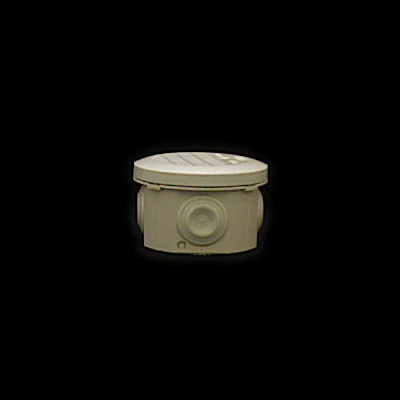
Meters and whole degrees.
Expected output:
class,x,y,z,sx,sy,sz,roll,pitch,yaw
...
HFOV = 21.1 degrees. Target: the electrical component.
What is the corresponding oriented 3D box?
class,x,y,z,sx,sy,sz,roll,pitch,yaw
electrical component,0.000,0.000,0.642,0.080,0.051,0.079,1,10,0
